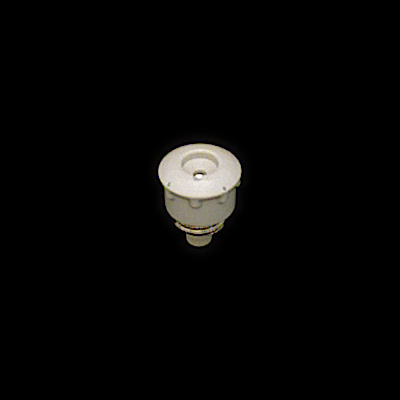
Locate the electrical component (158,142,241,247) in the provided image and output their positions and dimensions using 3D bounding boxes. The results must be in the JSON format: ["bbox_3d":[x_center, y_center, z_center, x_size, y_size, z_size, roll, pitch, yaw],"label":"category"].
[{"bbox_3d":[0.000,0.000,0.637,0.048,0.062,0.047,0,43,0],"label":"electrical component"}]
